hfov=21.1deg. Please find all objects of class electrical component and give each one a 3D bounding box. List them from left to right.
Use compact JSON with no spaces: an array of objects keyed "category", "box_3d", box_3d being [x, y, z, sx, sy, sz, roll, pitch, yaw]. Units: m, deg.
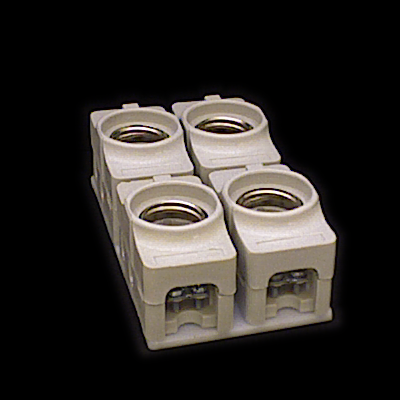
[{"category":"electrical component","box_3d":[0.000,0.000,0.633,0.106,0.061,0.183,-7,32,-13]}]
